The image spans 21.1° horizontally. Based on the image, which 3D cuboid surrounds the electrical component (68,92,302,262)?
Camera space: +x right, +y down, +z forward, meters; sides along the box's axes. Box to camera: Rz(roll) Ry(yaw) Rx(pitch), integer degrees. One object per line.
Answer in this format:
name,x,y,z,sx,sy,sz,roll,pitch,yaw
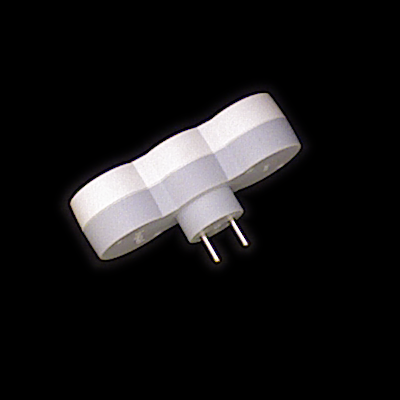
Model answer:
electrical component,0.000,0.000,0.631,0.138,0.074,0.052,-29,-13,-9
